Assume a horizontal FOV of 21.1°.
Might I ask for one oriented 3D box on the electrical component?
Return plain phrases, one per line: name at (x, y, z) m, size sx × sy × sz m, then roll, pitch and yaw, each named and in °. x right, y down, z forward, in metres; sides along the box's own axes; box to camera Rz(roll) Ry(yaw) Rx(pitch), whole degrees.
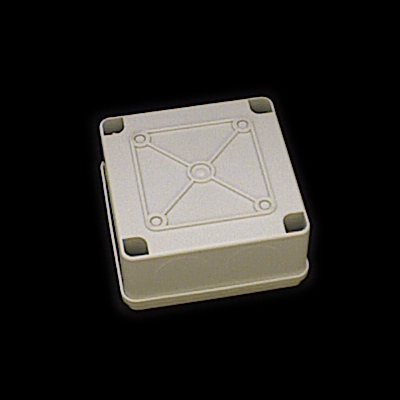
electrical component at (0.000, 0.000, 0.629) m, size 0.109 × 0.108 × 0.056 m, roll -8°, pitch -37°, yaw -6°
